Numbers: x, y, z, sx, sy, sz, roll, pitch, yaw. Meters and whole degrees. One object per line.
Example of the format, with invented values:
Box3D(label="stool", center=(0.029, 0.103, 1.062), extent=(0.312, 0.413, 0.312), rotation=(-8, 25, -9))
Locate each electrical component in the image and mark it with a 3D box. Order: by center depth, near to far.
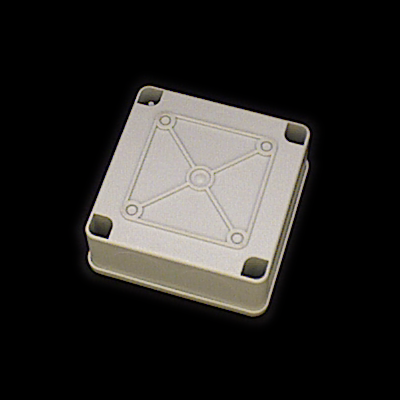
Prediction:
Box3D(label="electrical component", center=(0.000, 0.000, 0.628), extent=(0.108, 0.109, 0.056), rotation=(15, -27, 7))
